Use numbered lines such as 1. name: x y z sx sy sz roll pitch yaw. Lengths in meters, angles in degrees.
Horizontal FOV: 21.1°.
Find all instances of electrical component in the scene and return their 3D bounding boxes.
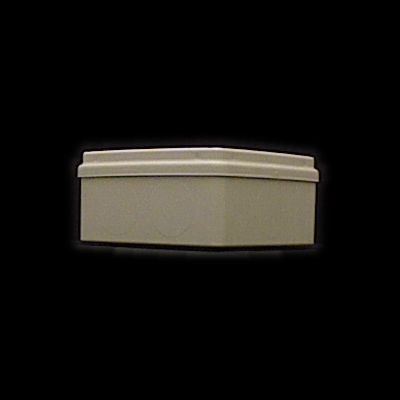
1. electrical component: 0.000 0.000 0.650 0.108 0.056 0.109 1 0 37
